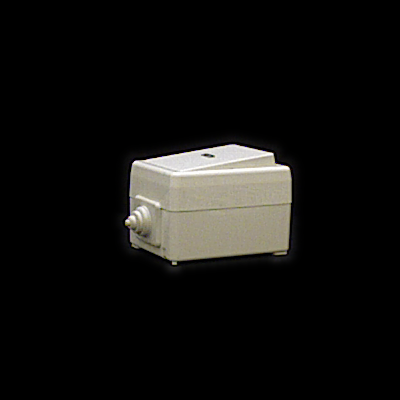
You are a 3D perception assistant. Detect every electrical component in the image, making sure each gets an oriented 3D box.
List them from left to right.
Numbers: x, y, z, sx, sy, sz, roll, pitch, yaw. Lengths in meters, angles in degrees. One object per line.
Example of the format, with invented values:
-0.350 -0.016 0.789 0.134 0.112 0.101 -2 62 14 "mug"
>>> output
0.000 0.000 0.643 0.096 0.061 0.061 -4 12 -28 "electrical component"
